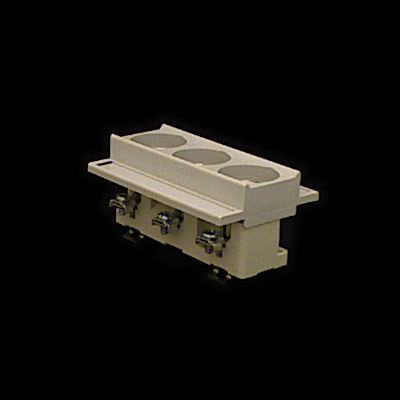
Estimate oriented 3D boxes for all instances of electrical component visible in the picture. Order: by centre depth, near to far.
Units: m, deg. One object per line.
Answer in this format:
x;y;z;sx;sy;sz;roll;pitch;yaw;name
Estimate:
0.000;0.000;0.653;0.078;0.064;0.120;-16;27;-39;electrical component
